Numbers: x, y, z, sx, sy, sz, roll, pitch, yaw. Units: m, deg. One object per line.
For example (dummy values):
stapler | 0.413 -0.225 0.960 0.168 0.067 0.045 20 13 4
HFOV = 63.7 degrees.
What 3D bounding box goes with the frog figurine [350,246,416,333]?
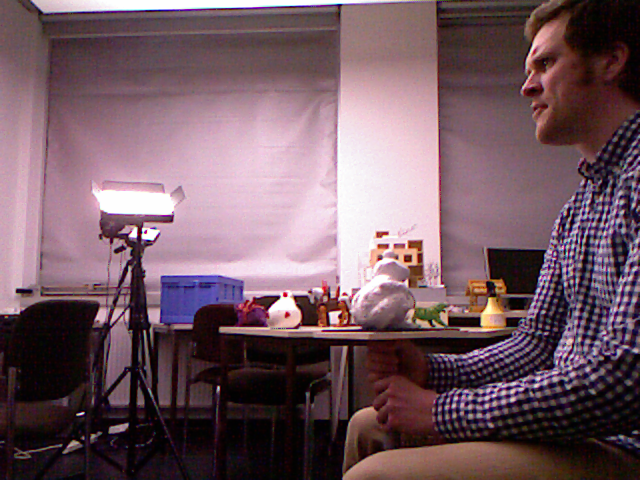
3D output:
frog figurine | 0.117 0.091 0.959 0.123 0.160 0.136 1 -6 -11
